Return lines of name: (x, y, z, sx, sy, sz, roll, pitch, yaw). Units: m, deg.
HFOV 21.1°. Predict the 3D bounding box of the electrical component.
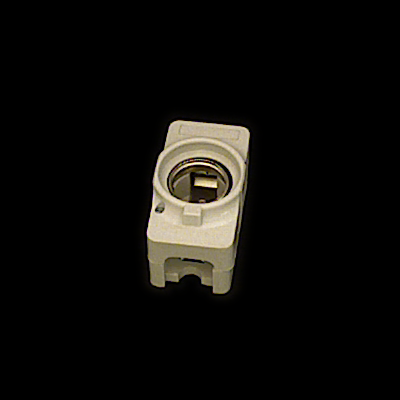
electrical component: (0.000, 0.000, 0.637, 0.050, 0.089, 0.056, 6, -37, 4)
